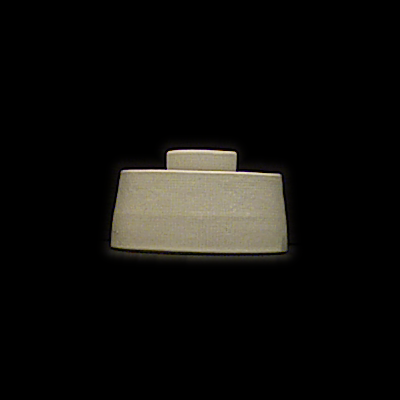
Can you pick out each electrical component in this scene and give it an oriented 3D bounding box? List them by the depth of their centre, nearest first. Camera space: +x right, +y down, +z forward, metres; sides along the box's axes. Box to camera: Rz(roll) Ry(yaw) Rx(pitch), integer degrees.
[{"bbox_3d":[0.000,0.000,0.657,0.108,0.060,0.108,1,1,0],"label":"electrical component"}]
